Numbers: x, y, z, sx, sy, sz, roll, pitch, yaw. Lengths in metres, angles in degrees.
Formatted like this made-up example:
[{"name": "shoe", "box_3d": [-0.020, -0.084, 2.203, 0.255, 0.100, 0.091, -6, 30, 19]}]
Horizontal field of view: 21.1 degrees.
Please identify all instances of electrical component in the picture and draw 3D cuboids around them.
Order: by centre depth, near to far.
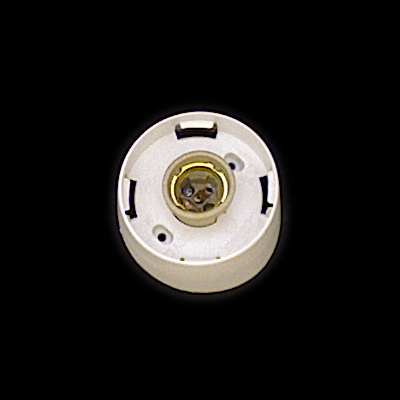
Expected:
[{"name": "electrical component", "box_3d": [0.000, 0.000, 0.624, 0.099, 0.099, 0.064, 0, -17, -1]}]
